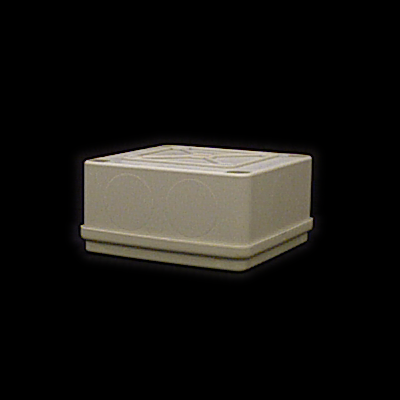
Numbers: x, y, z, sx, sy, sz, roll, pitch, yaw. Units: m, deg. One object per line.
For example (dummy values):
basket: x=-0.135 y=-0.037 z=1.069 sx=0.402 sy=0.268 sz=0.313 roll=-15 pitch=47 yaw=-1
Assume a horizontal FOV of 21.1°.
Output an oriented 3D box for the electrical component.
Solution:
electrical component: x=0.000 y=0.000 z=0.646 sx=0.108 sy=0.056 sz=0.108 roll=6 pitch=11 yaw=25
